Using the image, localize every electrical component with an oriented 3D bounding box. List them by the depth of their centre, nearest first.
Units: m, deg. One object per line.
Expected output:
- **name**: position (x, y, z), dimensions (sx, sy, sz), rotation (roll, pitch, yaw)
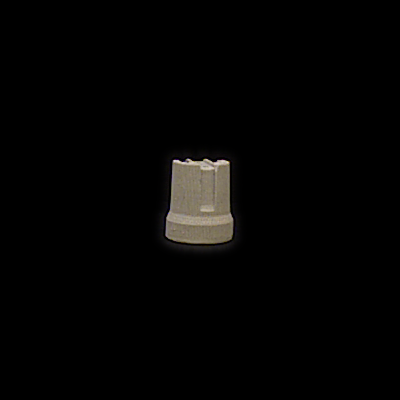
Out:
- **electrical component**: position (0.000, 0.000, 0.647), dimensions (0.040, 0.046, 0.040), rotation (2, 11, 0)
